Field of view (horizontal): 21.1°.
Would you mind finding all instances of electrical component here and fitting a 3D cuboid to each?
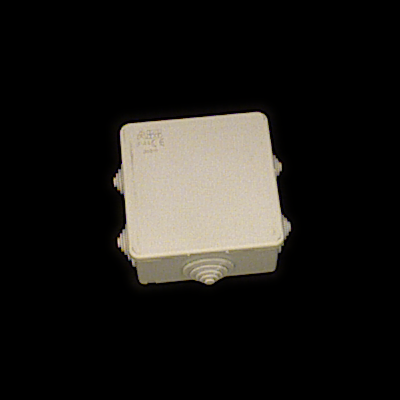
[{"bbox_3d":[0.000,0.000,0.640,0.100,0.100,0.048,-5,-26,-3],"label":"electrical component"}]
